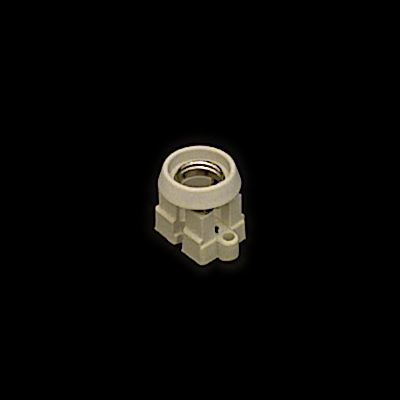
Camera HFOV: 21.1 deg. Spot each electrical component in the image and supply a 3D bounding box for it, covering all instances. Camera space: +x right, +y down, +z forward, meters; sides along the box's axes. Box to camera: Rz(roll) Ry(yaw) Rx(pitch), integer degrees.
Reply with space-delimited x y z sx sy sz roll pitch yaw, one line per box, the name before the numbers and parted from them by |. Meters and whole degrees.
electrical component | 0.000 0.000 0.640 0.048 0.056 0.065 -32 52 -33
